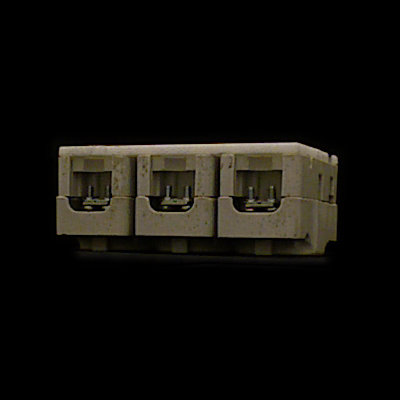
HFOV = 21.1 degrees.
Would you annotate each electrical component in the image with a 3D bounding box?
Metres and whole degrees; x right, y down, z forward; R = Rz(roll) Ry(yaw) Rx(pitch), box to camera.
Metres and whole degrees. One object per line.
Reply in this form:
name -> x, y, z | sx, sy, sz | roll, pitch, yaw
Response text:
electrical component -> 0.000, 0.000, 0.655 | 0.150, 0.062, 0.090 | 1, -1, 22
